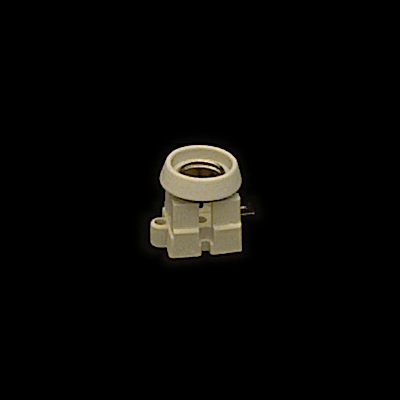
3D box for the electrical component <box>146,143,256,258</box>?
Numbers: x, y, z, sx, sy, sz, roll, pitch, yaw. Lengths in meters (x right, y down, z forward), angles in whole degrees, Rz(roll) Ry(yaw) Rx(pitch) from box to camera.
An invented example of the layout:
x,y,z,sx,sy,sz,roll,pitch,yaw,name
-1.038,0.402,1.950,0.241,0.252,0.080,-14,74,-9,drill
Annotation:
x,y,z,sx,sy,sz,roll,pitch,yaw,name
0.000,0.000,0.644,0.067,0.056,0.047,-6,35,-10,electrical component
